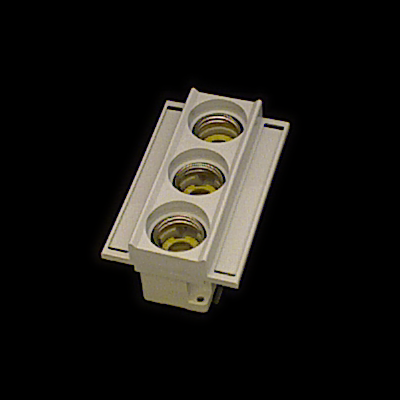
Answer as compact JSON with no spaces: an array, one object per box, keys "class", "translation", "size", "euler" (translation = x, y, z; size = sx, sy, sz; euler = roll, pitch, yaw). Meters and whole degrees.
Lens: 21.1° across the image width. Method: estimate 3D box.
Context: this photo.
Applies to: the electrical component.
[{"class":"electrical component","translation":[0.000,0.000,0.638],"size":[0.078,0.121,0.063],"euler":[12,-36,11]}]
